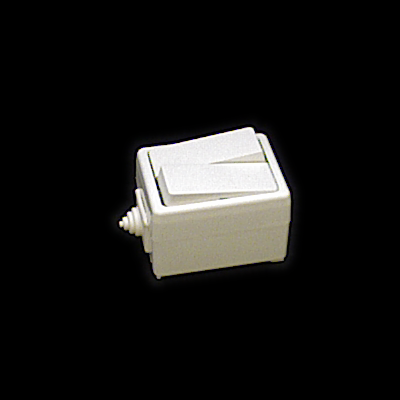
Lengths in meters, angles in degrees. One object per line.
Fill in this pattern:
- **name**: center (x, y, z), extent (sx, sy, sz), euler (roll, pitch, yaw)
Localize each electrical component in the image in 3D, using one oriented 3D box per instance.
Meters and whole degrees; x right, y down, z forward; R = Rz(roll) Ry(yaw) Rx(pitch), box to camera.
- **electrical component**: center (0.000, 0.000, 0.630), extent (0.096, 0.061, 0.061), euler (-7, 42, -9)
